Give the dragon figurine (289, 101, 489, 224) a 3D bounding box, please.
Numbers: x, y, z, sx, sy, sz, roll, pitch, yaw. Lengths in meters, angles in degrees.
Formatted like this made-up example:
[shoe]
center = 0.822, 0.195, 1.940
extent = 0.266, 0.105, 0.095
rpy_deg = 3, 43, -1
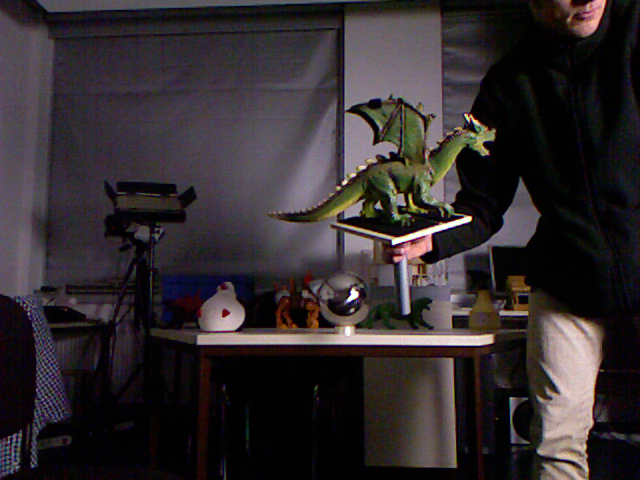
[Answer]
[dragon figurine]
center = 0.131, -0.153, 1.014
extent = 0.411, 0.239, 0.124
rpy_deg = -6, 22, 1
